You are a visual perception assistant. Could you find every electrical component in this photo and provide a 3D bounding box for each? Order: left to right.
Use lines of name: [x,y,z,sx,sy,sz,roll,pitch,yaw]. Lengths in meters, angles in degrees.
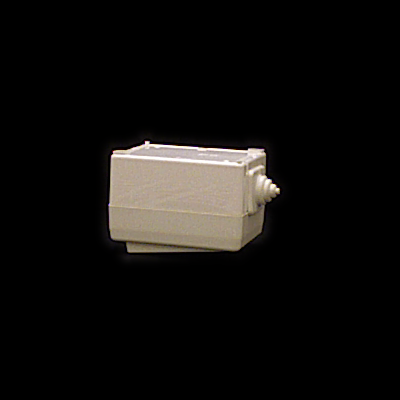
electrical component: [0.000,0.000,0.642,0.096,0.061,0.061,5,11,16]
